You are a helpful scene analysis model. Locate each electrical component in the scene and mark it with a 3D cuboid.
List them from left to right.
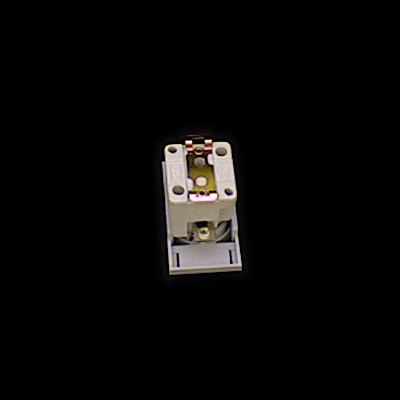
[{"bbox_3d":[0.000,0.000,0.627,0.042,0.080,0.064,-4,-38,-3],"label":"electrical component"}]
